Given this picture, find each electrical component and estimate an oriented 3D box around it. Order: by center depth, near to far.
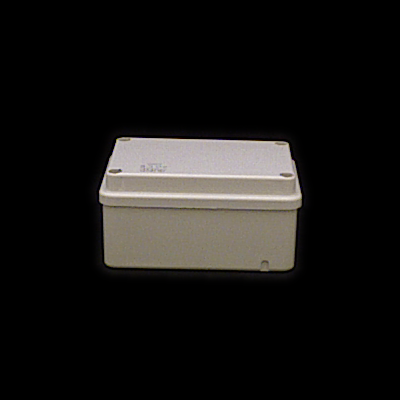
[{"bbox_3d":[0.000,0.000,0.636,0.113,0.058,0.077,1,21,0],"label":"electrical component"}]
